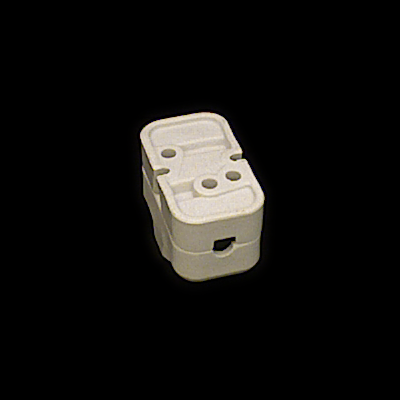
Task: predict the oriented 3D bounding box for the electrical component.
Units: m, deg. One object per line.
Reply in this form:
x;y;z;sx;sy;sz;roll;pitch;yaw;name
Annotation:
0.000;0.000;0.640;0.054;0.060;0.094;-11;44;-13;electrical component
